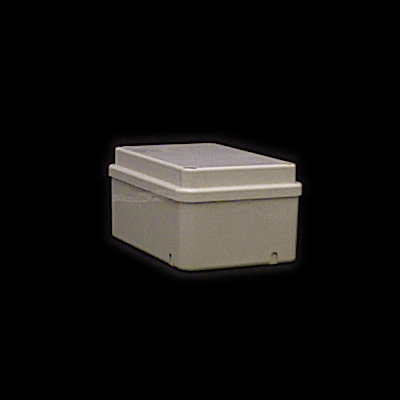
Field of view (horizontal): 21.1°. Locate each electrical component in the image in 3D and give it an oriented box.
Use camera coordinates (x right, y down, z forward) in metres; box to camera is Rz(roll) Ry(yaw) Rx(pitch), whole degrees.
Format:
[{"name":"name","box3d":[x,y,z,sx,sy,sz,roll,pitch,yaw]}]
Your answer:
[{"name":"electrical component","box3d":[0.000,0.000,0.643,0.078,0.057,0.112,-4,12,-27]}]
